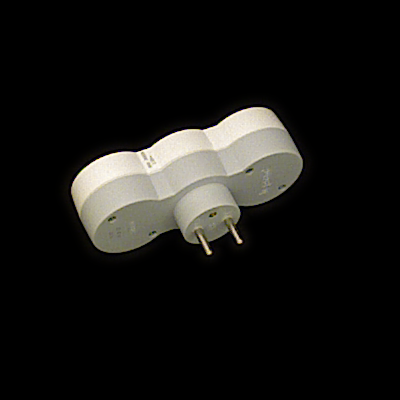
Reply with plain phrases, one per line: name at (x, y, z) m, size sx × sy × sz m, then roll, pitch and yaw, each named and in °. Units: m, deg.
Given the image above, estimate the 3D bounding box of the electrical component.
electrical component at (0.000, 0.000, 0.637) m, size 0.139 × 0.073 × 0.052 m, roll -19°, pitch -33°, yaw -15°
